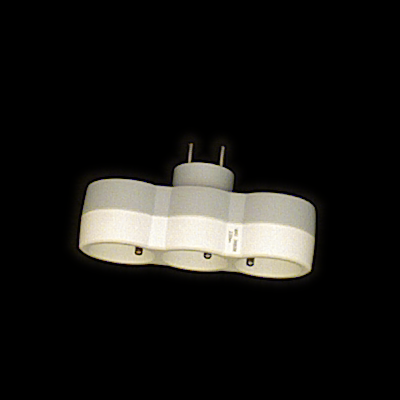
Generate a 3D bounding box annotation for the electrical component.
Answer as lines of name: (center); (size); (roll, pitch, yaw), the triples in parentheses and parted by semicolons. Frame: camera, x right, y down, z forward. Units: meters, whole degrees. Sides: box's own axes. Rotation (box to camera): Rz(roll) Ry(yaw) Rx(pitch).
electrical component: (0.000, 0.000, 0.639); (0.138, 0.074, 0.052); (5, -18, 2)
